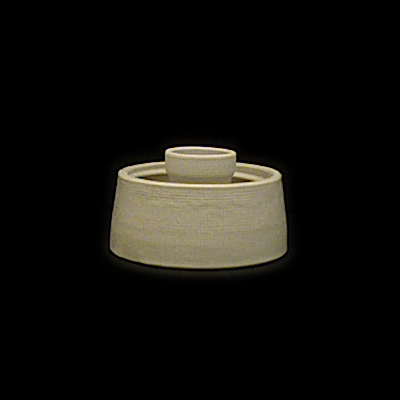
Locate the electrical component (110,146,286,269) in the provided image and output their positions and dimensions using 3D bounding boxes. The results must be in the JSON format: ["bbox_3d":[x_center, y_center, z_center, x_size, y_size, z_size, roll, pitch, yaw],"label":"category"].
[{"bbox_3d":[0.000,0.000,0.649,0.108,0.061,0.107,2,11,0],"label":"electrical component"}]
